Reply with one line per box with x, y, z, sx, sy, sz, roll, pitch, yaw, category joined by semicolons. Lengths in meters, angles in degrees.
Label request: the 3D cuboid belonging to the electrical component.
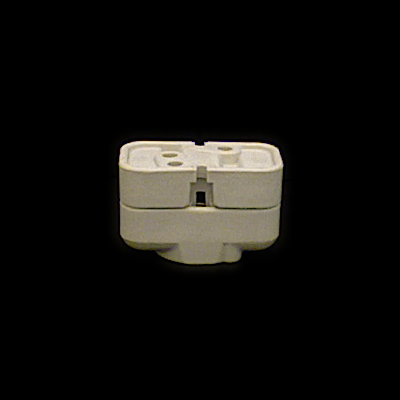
0.000;0.000;0.644;0.095;0.060;0.053;1;22;-3;electrical component
